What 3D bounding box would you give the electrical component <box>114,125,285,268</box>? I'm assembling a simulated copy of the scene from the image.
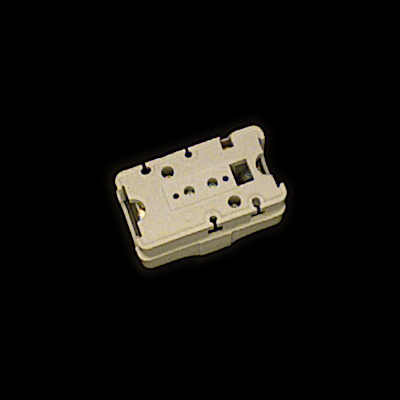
[{"bbox_3d":[0.000,0.000,0.636,0.090,0.050,0.055,-19,-16,-6],"label":"electrical component"}]
